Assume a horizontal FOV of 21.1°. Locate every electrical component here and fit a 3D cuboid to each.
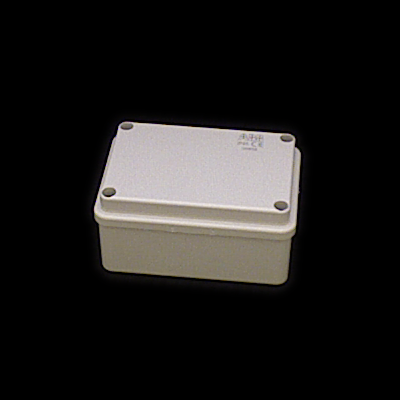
[{"bbox_3d":[0.000,0.000,0.633,0.113,0.057,0.077,4,42,4],"label":"electrical component"}]
